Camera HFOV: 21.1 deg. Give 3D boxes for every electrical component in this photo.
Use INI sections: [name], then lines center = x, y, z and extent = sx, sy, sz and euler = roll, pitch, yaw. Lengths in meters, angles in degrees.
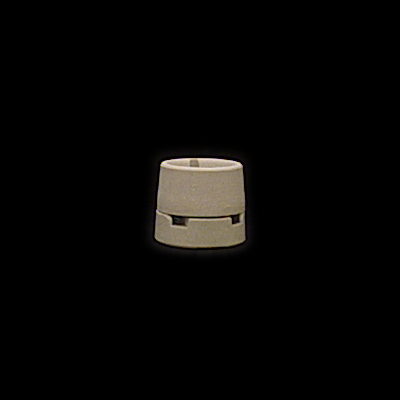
[electrical component]
center = 0.000, 0.000, 0.647
extent = 0.055, 0.047, 0.055
euler = 1, 10, 0
